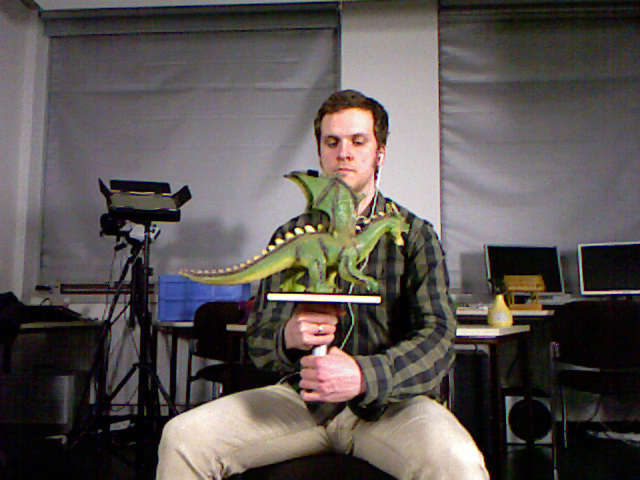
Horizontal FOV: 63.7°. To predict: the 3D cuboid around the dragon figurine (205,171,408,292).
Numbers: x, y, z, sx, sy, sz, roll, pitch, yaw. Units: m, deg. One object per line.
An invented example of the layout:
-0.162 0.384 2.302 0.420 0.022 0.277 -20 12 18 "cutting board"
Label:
-0.008 -0.015 1.011 0.410 0.244 0.122 5 -5 -18 "dragon figurine"
